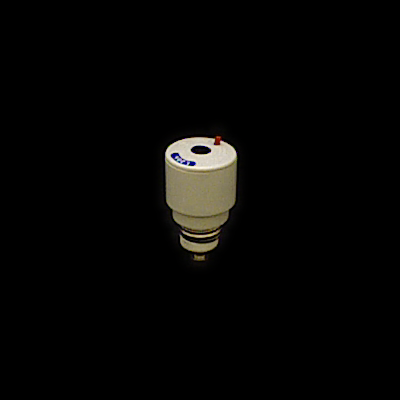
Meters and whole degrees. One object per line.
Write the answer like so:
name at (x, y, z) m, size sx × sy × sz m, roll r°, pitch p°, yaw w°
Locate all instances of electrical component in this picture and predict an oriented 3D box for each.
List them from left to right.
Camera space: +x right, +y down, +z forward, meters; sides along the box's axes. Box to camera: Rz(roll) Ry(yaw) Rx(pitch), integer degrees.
electrical component at (0.000, 0.000, 0.630) m, size 0.040 × 0.079 × 0.039 m, roll 1°, pitch 31°, yaw 0°
